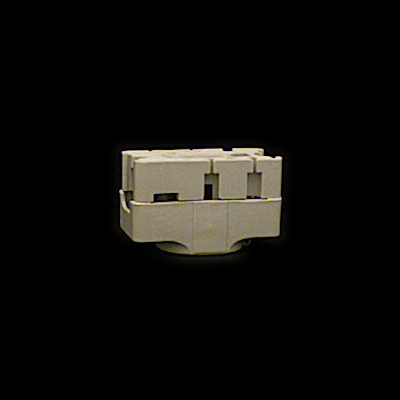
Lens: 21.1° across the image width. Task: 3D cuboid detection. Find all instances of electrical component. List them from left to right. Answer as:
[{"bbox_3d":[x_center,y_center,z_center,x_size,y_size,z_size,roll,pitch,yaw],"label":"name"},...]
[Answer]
[{"bbox_3d":[0.000,0.000,0.652,0.090,0.056,0.049,-1,11,-16],"label":"electrical component"}]
